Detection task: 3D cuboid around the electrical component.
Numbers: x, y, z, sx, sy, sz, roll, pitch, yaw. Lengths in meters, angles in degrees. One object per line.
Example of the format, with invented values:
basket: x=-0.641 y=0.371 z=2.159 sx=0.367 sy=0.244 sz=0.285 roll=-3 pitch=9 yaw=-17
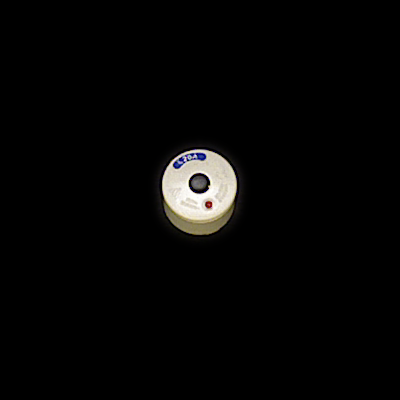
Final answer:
electrical component: x=0.000 y=0.000 z=0.616 sx=0.040 sy=0.040 sz=0.078 roll=0 pitch=-16 yaw=0
